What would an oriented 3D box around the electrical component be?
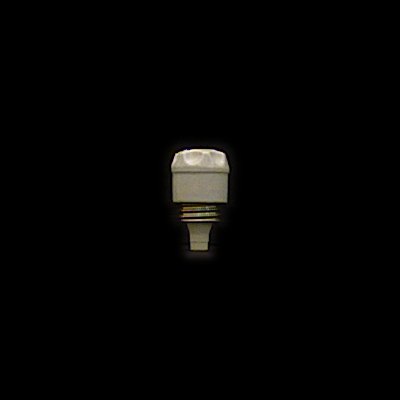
[{"bbox_3d":[0.000,0.000,0.656,0.035,0.061,0.035,1,2,1],"label":"electrical component"}]
